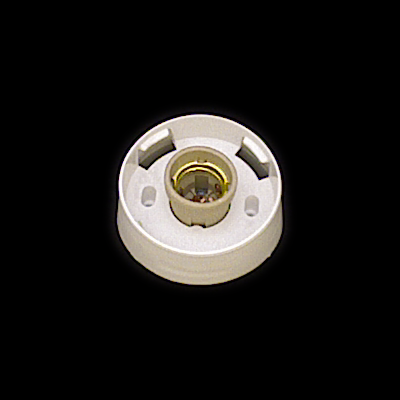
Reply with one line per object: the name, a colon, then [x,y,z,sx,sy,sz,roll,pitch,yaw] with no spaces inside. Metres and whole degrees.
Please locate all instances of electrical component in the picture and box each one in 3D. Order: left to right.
electrical component: [0.000,0.000,0.625,0.099,0.099,0.064,0,-28,0]
